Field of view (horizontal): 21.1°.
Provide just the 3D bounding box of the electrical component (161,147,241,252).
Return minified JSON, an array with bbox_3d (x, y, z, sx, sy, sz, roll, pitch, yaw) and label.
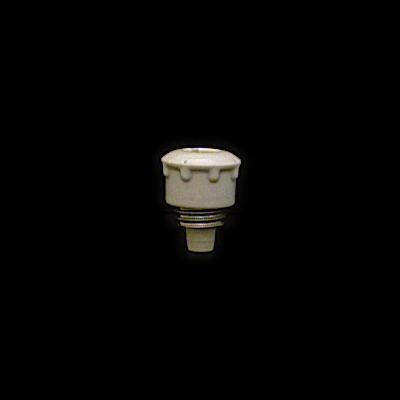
[{"bbox_3d":[0.000,0.000,0.650,0.048,0.062,0.048,1,11,0],"label":"electrical component"}]
